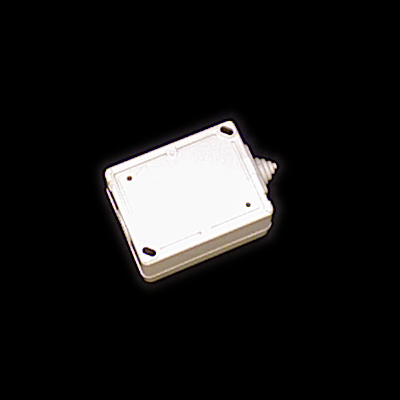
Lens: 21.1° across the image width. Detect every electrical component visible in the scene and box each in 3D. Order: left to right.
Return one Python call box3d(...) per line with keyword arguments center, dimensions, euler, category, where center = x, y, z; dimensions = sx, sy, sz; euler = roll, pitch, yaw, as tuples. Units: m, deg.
box3d(center=(0.000, 0.000, 0.627), dimensions=(0.096, 0.062, 0.060), euler=(-22, -16, -8), category="electrical component")
